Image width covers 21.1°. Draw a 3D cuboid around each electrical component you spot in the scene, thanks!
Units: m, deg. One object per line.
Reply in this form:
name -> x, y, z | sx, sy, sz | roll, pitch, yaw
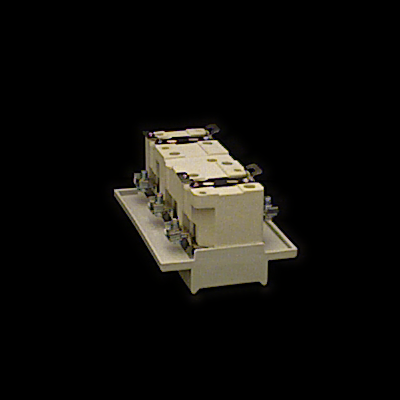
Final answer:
electrical component -> 0.000, 0.000, 0.644 | 0.079, 0.064, 0.119 | -6, 22, -16
